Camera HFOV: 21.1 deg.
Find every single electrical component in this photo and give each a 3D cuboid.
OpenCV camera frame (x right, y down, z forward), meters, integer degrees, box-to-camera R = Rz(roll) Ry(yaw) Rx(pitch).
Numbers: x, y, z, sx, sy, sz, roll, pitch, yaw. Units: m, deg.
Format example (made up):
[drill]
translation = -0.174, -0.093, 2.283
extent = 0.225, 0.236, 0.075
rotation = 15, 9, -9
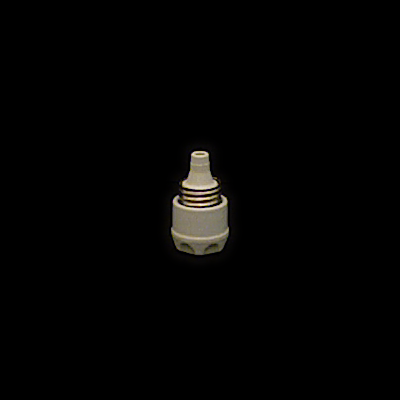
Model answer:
[electrical component]
translation = 0.000, 0.000, 0.649
extent = 0.035, 0.062, 0.035
rotation = 0, 21, 0
